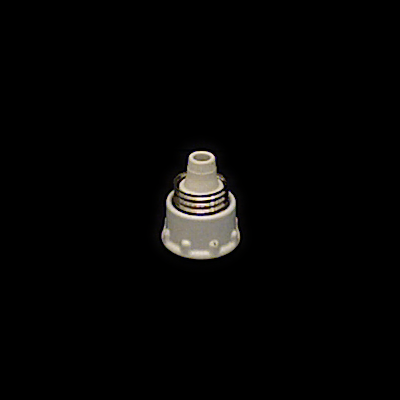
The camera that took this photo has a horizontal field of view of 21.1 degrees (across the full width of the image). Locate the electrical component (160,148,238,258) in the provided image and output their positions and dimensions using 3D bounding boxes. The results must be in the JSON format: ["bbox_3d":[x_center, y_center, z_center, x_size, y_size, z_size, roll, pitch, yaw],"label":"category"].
[{"bbox_3d":[0.000,0.000,0.642,0.048,0.063,0.047,1,31,0],"label":"electrical component"}]
